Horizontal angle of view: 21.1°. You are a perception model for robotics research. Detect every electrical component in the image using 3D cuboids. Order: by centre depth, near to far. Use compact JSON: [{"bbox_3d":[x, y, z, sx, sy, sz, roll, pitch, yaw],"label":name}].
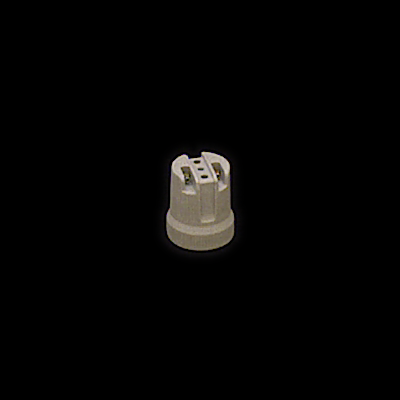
[{"bbox_3d":[0.000,0.000,0.637,0.040,0.046,0.040,0,32,0],"label":"electrical component"}]
